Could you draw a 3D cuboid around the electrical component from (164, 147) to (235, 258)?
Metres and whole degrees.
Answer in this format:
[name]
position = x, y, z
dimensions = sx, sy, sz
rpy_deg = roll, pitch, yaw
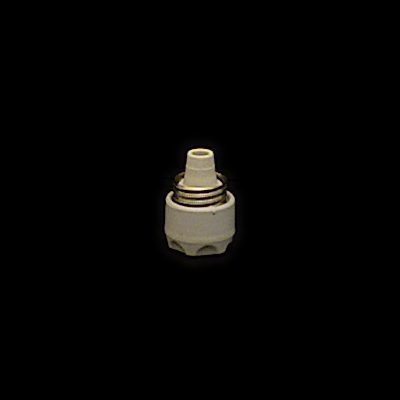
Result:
[electrical component]
position = 0.000, 0.000, 0.645
dimensions = 0.043, 0.063, 0.043
rpy_deg = 0, 23, 0
